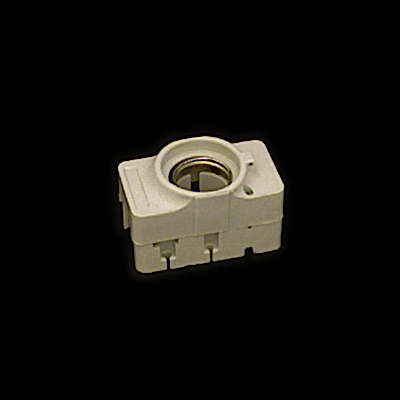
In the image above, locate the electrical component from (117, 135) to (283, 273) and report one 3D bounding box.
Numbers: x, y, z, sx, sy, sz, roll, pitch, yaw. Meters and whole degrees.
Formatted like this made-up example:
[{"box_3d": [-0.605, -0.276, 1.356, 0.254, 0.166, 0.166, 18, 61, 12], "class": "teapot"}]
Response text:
[{"box_3d": [0.000, 0.000, 0.639, 0.090, 0.056, 0.049, -10, 44, -12], "class": "electrical component"}]
